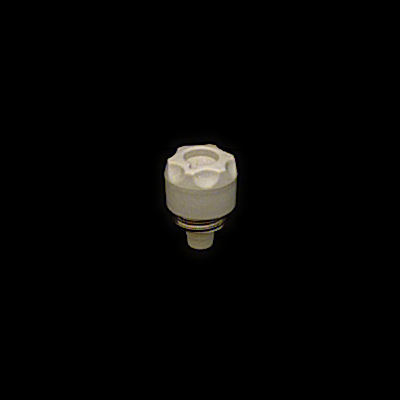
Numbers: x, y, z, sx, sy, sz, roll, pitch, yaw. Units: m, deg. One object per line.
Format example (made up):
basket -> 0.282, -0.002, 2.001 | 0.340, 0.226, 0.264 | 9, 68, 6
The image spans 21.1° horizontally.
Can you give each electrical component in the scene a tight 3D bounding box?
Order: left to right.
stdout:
electrical component -> 0.000, 0.000, 0.642 | 0.043, 0.063, 0.043 | 1, 31, 0
